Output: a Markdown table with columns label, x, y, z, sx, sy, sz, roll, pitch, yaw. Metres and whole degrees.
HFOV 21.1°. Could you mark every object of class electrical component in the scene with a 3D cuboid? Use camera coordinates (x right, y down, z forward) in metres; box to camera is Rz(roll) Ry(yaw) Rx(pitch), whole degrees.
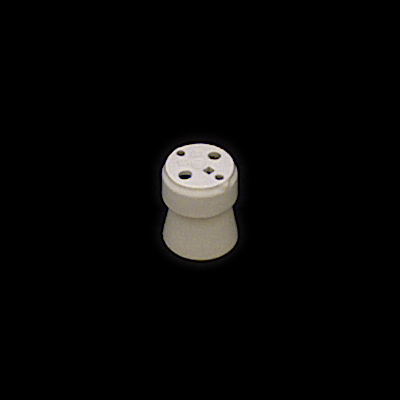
| label | x | y | z | sx | sy | sz | roll | pitch | yaw |
| --- | --- | --- | --- | --- | --- | --- | --- | --- | --- |
| electrical component | 0.000 | 0.000 | 0.631 | 0.045 | 0.055 | 0.044 | 0 | 42 | 0 |
